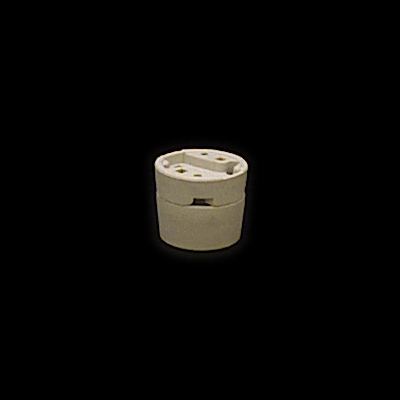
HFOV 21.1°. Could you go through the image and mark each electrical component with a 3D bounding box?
[{"bbox_3d":[0.000,0.000,0.642,0.055,0.047,0.055,1,21,0],"label":"electrical component"}]
